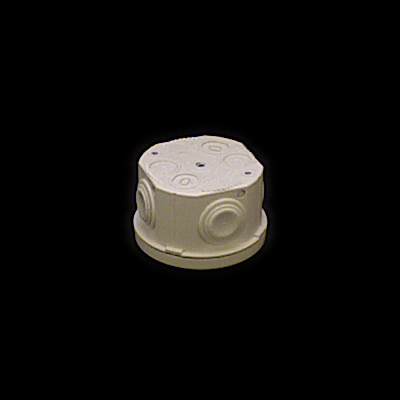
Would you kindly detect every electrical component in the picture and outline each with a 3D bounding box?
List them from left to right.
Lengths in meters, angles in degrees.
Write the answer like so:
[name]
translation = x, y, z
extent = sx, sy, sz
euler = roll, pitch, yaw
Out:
[electrical component]
translation = 0.000, 0.000, 0.637
extent = 0.080, 0.051, 0.079
euler = 0, 31, 0
